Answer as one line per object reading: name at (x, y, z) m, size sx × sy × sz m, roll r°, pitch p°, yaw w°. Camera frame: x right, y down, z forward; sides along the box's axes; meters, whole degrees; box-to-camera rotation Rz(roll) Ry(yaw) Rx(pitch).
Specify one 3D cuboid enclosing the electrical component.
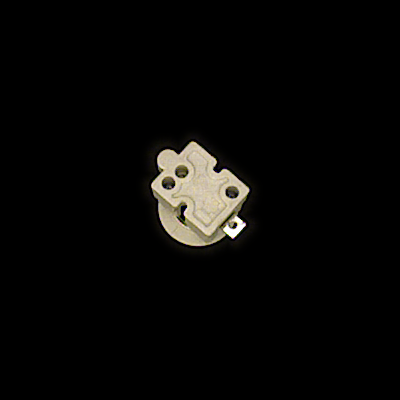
electrical component at (0.000, 0.000, 0.637) m, size 0.066 × 0.049 × 0.055 m, roll 41°, pitch -13°, yaw 10°
